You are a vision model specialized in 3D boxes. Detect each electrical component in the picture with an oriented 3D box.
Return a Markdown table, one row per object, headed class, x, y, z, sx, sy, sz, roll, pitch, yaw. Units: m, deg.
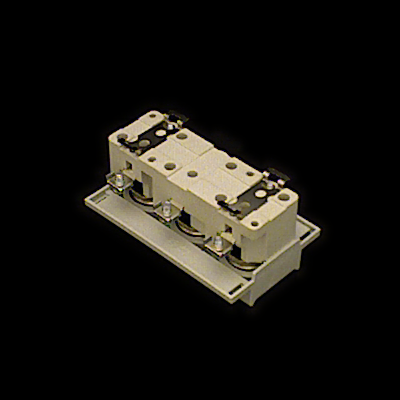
| class | x | y | z | sx | sy | sz | roll | pitch | yaw |
| --- | --- | --- | --- | --- | --- | --- | --- | --- | --- |
| electrical component | 0.000 | 0.000 | 0.640 | 0.120 | 0.063 | 0.078 | 32 | 50 | 29 |
